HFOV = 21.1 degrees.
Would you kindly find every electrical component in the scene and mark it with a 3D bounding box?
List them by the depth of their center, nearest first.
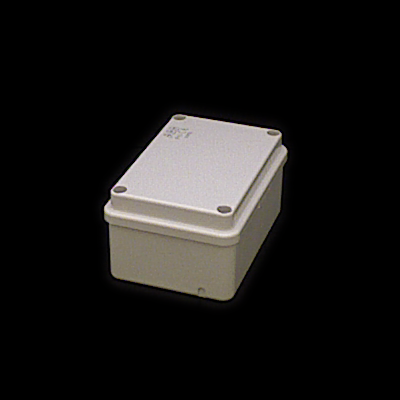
[{"bbox_3d":[0.000,0.000,0.635,0.078,0.058,0.112,11,33,16],"label":"electrical component"}]
